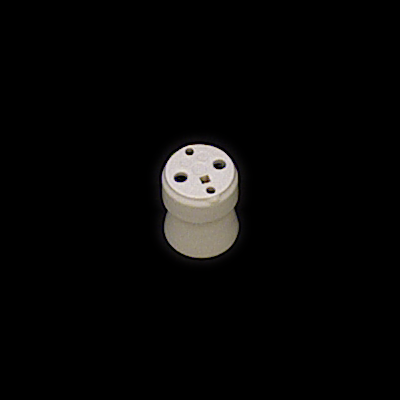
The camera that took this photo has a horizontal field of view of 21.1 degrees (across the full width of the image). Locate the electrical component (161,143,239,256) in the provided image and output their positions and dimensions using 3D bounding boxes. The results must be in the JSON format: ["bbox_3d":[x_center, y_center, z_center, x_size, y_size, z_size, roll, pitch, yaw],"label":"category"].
[{"bbox_3d":[0.000,0.000,0.629,0.045,0.044,0.055,0,-38,0],"label":"electrical component"}]
